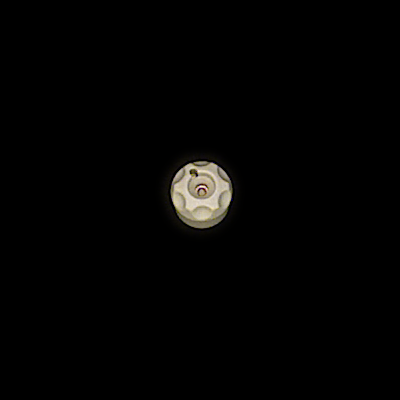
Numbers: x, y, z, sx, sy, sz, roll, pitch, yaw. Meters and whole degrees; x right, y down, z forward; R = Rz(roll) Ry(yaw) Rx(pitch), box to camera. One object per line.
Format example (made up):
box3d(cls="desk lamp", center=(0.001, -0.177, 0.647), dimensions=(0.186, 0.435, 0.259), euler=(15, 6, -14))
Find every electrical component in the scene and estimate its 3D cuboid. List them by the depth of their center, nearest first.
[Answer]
box3d(cls="electrical component", center=(0.000, 0.000, 0.634), dimensions=(0.035, 0.035, 0.061), euler=(0, -16, 1))
